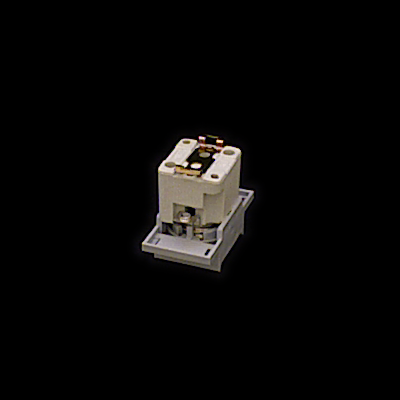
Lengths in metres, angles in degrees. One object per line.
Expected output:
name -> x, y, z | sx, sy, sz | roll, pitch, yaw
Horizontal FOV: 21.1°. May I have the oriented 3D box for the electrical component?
electrical component -> 0.000, 0.000, 0.633 | 0.042, 0.064, 0.080 | 11, 33, 16
